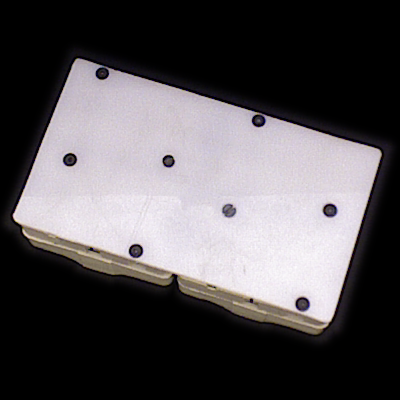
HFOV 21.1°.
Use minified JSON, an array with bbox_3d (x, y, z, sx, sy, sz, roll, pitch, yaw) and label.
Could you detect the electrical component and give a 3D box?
[{"bbox_3d":[0.000,0.000,0.625,0.186,0.106,0.060,17,-16,5],"label":"electrical component"}]
